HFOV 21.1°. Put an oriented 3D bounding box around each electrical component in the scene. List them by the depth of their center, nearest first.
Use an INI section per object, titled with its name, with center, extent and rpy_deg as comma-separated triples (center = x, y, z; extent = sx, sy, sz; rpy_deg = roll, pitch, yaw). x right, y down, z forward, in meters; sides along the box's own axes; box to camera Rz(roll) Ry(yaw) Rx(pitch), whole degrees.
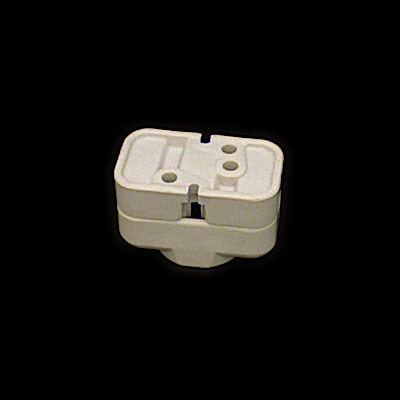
[electrical component]
center = 0.000, 0.000, 0.640
extent = 0.095, 0.060, 0.053
rpy_deg = 5, 43, 5
